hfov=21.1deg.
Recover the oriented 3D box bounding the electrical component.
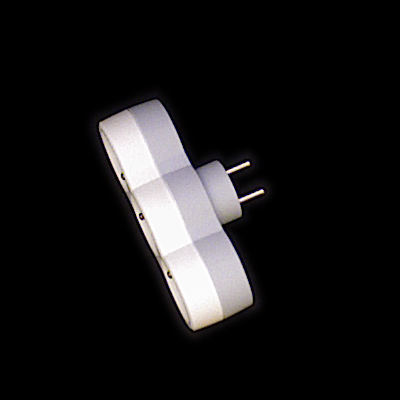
[{"bbox_3d":[0.000,0.000,0.631,0.074,0.138,0.052,-24,-16,-9],"label":"electrical component"}]
